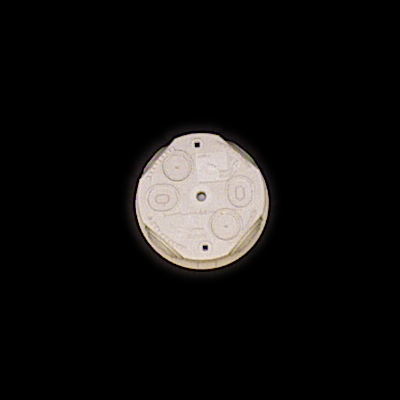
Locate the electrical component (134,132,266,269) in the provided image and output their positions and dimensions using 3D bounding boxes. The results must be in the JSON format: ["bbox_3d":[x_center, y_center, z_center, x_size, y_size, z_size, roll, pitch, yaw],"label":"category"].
[{"bbox_3d":[0.000,0.000,0.634,0.080,0.080,0.050,0,-7,0],"label":"electrical component"}]
